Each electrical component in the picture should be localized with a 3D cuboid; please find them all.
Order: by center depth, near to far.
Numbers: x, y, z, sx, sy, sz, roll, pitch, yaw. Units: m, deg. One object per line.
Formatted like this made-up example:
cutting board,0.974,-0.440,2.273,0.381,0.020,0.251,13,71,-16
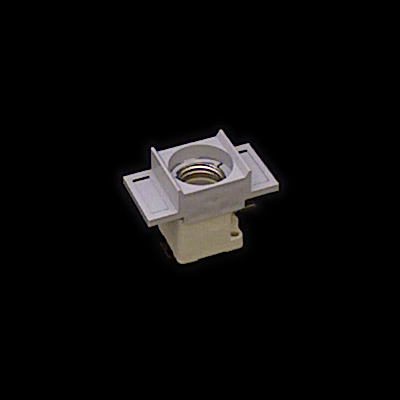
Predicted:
electrical component,0.000,0.000,0.630,0.081,0.064,0.042,-15,43,-17
